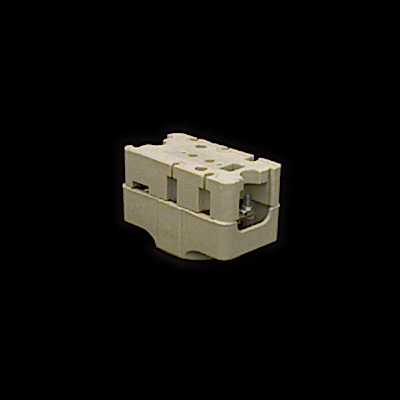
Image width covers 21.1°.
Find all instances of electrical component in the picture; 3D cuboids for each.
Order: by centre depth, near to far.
[{"bbox_3d":[0.000,0.000,0.647,0.088,0.056,0.050,21,29,40],"label":"electrical component"}]
